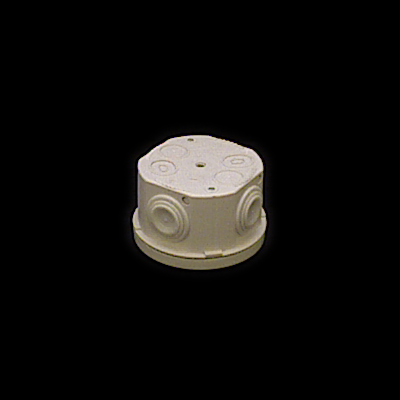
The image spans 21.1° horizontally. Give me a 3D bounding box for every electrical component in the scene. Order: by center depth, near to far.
[{"bbox_3d":[0.000,0.000,0.636,0.080,0.051,0.079,1,32,0],"label":"electrical component"}]
